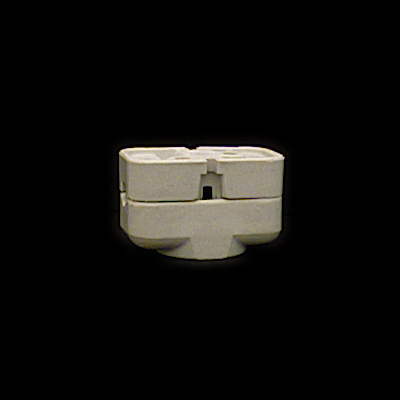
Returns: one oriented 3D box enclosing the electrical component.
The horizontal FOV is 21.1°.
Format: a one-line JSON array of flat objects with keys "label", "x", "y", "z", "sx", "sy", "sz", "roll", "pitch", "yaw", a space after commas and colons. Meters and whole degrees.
[{"label": "electrical component", "x": 0.000, "y": 0.000, "z": 0.653, "sx": 0.096, "sy": 0.060, "sz": 0.053, "roll": -2, "pitch": 12, "yaw": -15}]
